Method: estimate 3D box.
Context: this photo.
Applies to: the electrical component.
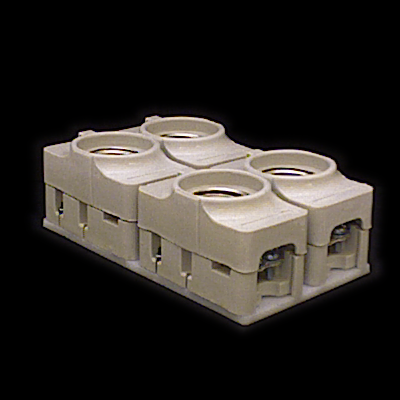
[{"bbox_3d":[0.000,0.000,0.638,0.105,0.061,0.184,-17,27,-39],"label":"electrical component"}]
